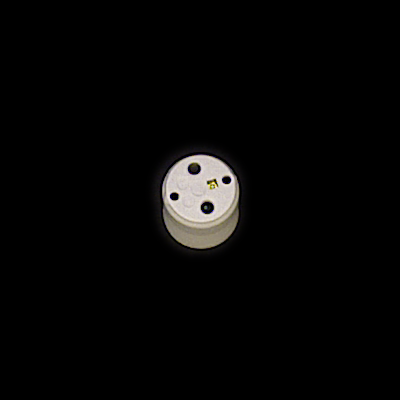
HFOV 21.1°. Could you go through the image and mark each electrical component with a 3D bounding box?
[{"bbox_3d":[0.000,0.000,0.628,0.045,0.045,0.055,0,-16,1],"label":"electrical component"}]
